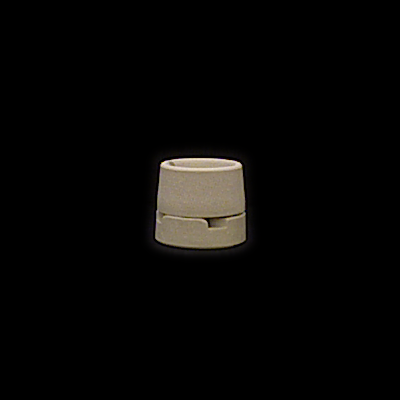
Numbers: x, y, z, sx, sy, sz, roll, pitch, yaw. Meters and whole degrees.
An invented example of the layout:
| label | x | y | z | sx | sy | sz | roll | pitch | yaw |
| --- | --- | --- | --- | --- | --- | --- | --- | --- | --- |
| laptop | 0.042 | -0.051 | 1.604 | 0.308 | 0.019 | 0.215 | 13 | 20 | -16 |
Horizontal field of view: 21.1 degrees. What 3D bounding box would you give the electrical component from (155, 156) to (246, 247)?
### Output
| label | x | y | z | sx | sy | sz | roll | pitch | yaw |
| --- | --- | --- | --- | --- | --- | --- | --- | --- | --- |
| electrical component | 0.000 | 0.000 | 0.647 | 0.055 | 0.047 | 0.055 | 1 | 10 | 0 |
